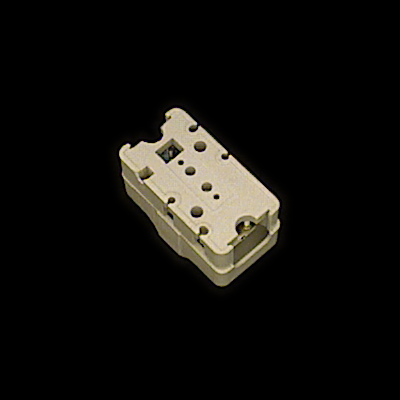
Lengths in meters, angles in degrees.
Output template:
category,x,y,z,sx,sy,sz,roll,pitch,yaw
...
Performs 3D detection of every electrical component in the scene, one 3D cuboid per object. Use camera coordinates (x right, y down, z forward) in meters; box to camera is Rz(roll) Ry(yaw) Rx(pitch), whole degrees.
category,x,y,z,sx,sy,sz,roll,pitch,yaw
electrical component,0.000,0.000,0.635,0.050,0.089,0.055,-40,-20,-17
